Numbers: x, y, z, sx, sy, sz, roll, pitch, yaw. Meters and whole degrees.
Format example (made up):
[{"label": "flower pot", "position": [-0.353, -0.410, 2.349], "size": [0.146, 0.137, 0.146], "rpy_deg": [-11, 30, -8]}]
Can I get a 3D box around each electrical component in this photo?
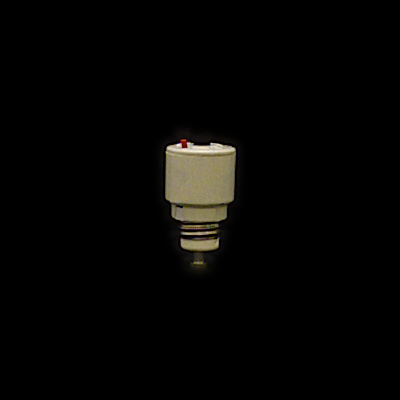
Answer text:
[{"label": "electrical component", "position": [0.000, 0.000, 0.641], "size": [0.040, 0.079, 0.040], "rpy_deg": [1, 12, 0]}]
